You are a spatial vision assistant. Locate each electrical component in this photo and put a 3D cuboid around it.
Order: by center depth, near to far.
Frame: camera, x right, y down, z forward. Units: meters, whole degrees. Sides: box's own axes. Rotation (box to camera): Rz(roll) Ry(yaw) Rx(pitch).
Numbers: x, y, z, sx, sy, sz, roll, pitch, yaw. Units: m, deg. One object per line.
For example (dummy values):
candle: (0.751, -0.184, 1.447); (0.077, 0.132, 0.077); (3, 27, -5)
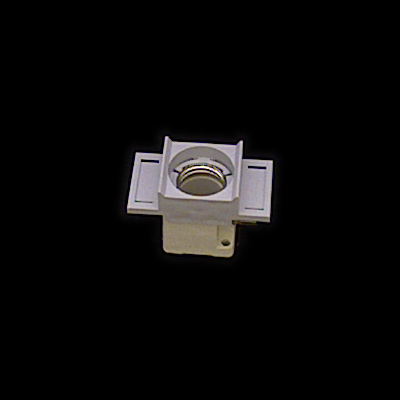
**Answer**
electrical component: (0.000, 0.000, 0.626); (0.081, 0.042, 0.064); (4, -39, 3)
